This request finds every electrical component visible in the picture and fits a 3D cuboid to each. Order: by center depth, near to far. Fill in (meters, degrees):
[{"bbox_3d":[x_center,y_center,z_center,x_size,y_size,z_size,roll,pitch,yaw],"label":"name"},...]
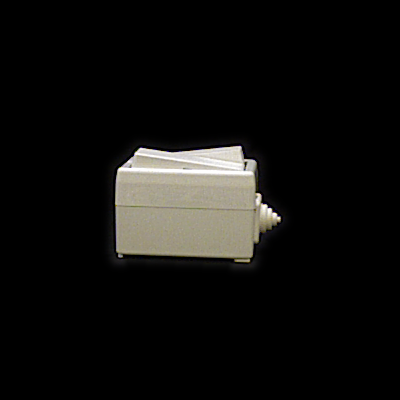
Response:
[{"bbox_3d":[0.000,0.000,0.644,0.096,0.061,0.061,2,11,5],"label":"electrical component"}]
